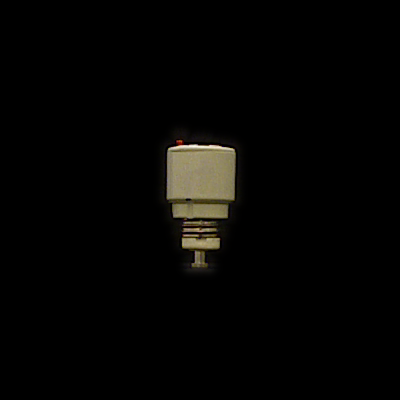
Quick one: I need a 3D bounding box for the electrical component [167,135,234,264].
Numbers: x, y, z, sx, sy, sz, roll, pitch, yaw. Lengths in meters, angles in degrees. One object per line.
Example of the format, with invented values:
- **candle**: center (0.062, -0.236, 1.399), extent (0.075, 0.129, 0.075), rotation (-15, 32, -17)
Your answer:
- **electrical component**: center (0.000, 0.000, 0.651), extent (0.040, 0.078, 0.040), rotation (1, 1, 0)
